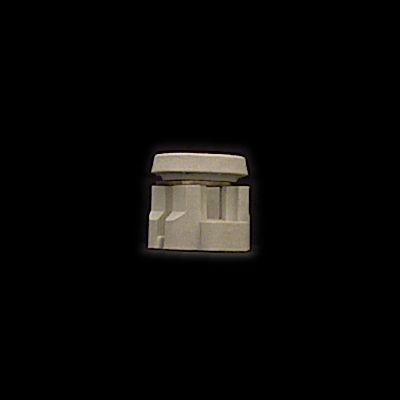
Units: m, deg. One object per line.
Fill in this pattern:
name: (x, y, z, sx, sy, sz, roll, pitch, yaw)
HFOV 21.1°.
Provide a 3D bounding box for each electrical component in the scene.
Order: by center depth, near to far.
electrical component: (0.000, 0.000, 0.650, 0.058, 0.057, 0.078, 1, 1, -30)
